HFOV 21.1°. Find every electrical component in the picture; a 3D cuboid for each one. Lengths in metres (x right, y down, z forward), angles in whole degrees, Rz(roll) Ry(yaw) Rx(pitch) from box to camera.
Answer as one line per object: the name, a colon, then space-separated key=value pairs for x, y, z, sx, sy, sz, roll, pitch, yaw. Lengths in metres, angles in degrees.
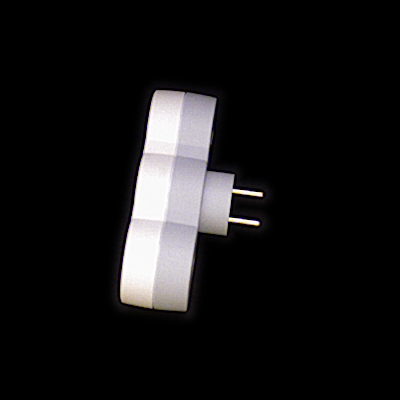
electrical component: x=0.000 y=0.000 z=0.632 sx=0.074 sy=0.138 sz=0.052 roll=7 pitch=-28 yaw=1
